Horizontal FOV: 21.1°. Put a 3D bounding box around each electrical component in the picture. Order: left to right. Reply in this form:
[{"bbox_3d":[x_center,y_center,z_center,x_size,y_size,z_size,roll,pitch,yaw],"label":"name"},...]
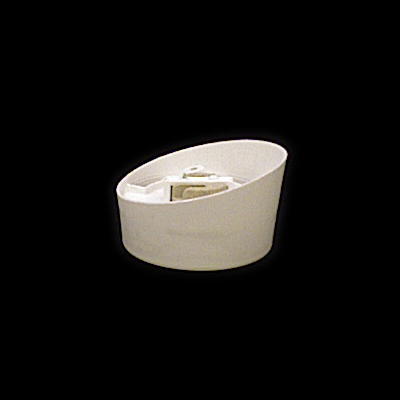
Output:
[{"bbox_3d":[0.000,0.000,0.639,0.099,0.065,0.097,2,20,0],"label":"electrical component"}]
